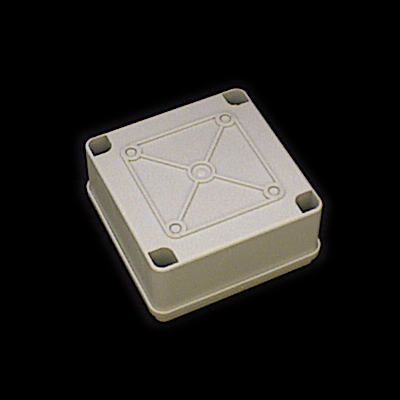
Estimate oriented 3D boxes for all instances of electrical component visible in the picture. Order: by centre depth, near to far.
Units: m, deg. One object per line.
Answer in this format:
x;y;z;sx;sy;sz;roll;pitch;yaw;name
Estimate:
0.000;0.000;0.631;0.109;0.108;0.056;-20;-35;-16;electrical component
